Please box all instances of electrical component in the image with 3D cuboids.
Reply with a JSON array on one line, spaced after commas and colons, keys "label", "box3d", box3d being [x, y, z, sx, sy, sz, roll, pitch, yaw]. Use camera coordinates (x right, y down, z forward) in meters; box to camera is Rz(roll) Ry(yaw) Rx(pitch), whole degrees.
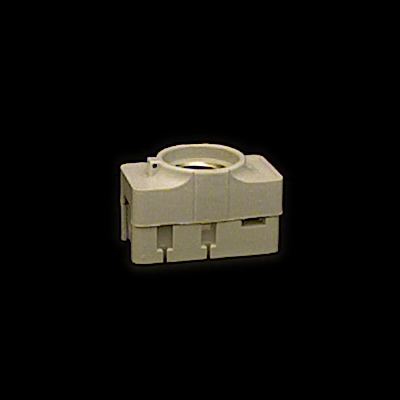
[{"label": "electrical component", "box3d": [0.000, 0.000, 0.647, 0.090, 0.056, 0.049, -5, 23, -15]}]
